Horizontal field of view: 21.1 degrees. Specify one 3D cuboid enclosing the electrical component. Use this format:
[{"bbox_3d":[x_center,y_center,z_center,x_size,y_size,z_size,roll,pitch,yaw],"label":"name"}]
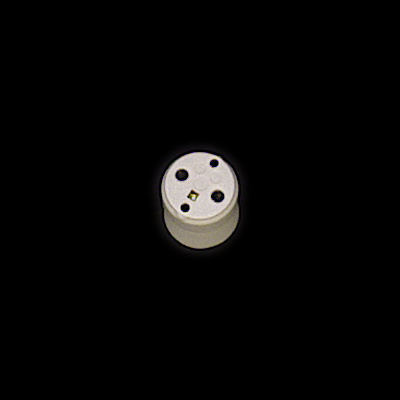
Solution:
[{"bbox_3d":[0.000,0.000,0.629,0.045,0.045,0.055,0,-17,0],"label":"electrical component"}]
